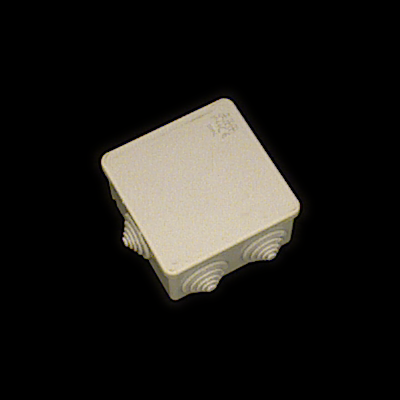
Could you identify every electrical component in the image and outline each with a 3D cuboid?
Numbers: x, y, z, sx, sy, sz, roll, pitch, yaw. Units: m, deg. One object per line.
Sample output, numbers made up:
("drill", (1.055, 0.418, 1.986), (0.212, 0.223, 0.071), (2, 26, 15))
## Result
("electrical component", (0.000, 0.000, 0.640), (0.100, 0.099, 0.048), (-26, -24, -13))
